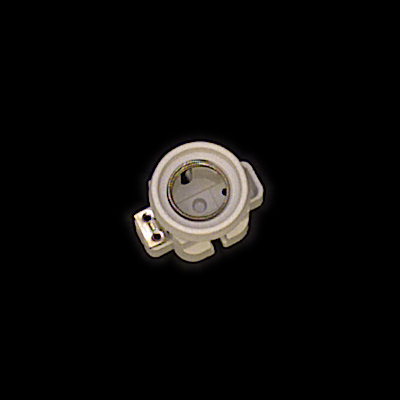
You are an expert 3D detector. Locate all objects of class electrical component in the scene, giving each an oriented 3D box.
[{"bbox_3d":[0.000,0.000,0.628,0.079,0.058,0.056,-26,-15,-8],"label":"electrical component"}]
